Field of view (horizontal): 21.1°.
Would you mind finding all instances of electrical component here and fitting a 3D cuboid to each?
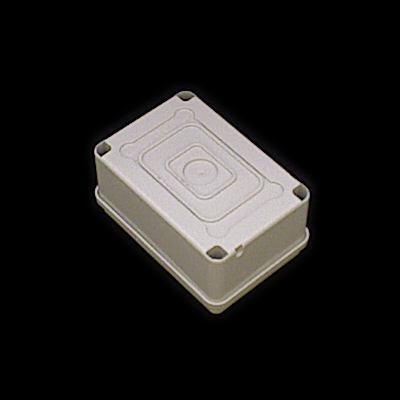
[{"bbox_3d":[0.000,0.000,0.629,0.078,0.057,0.112,-35,60,-24],"label":"electrical component"}]
